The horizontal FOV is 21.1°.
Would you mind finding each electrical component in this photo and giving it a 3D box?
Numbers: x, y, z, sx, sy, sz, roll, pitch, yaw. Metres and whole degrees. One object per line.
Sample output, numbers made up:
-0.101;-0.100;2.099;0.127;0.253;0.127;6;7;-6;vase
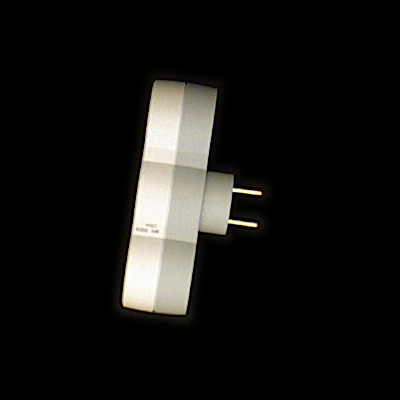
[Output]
0.000;0.000;0.639;0.074;0.138;0.052;8;-6;-1;electrical component
